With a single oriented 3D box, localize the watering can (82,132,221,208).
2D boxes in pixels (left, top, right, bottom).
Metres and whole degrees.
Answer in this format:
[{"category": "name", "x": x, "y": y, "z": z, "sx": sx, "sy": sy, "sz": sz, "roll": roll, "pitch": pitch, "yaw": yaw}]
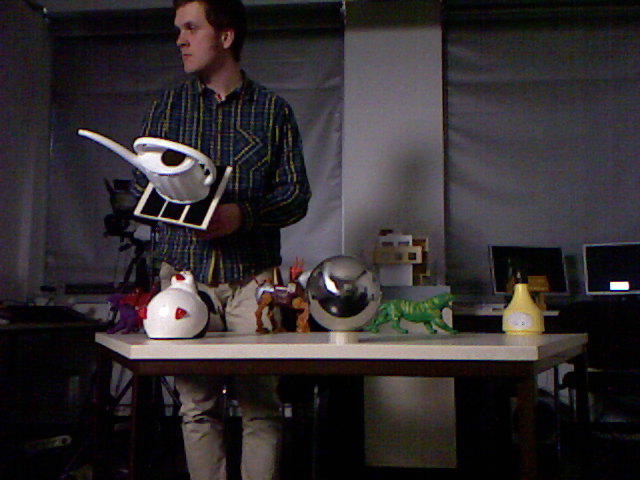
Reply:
[{"category": "watering can", "x": -0.415, "y": -0.187, "z": 1.323, "sx": 0.348, "sy": 0.106, "sz": 0.219, "roll": 12, "pitch": -30, "yaw": 8}]
